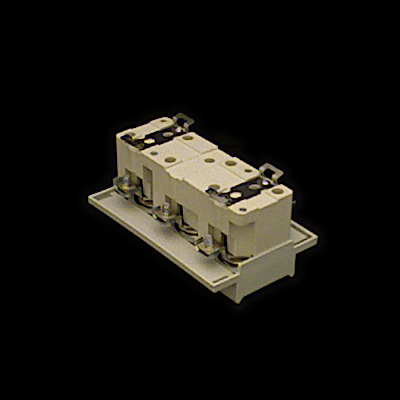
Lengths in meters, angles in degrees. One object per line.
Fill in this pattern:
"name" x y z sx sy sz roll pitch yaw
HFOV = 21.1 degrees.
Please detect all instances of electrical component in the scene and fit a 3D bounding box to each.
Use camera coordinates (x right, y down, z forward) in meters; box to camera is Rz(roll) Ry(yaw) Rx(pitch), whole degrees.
"electrical component" 0.000 0.000 0.639 0.079 0.064 0.119 -24 40 -33
